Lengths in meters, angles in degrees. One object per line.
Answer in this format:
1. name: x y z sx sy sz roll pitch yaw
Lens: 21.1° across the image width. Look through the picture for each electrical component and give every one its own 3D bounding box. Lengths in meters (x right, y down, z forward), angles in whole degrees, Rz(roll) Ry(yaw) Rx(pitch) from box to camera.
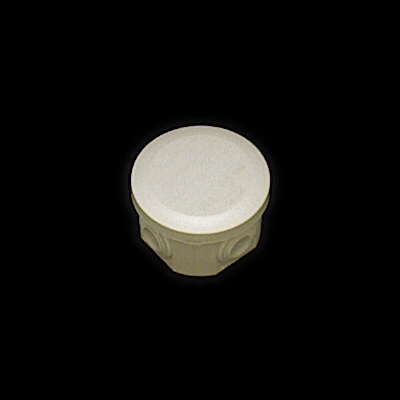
1. electrical component: 0.000 0.000 0.630 0.080 0.080 0.051 0 -38 0
